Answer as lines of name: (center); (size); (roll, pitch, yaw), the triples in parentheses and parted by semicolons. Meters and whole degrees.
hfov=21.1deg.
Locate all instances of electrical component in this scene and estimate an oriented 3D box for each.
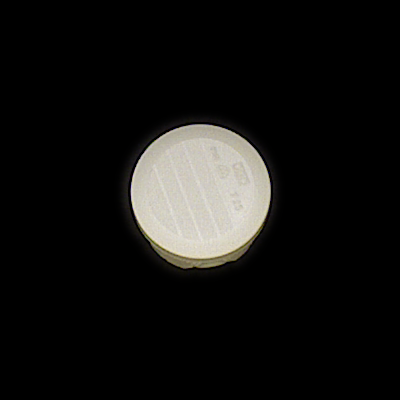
electrical component: (0.000, 0.000, 0.629); (0.080, 0.080, 0.050); (0, -17, 0)
